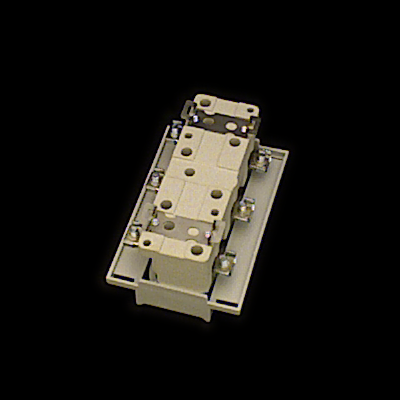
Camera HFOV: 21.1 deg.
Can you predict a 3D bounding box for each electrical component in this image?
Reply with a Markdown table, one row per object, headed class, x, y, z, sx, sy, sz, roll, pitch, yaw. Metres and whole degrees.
| class | x | y | z | sx | sy | sz | roll | pitch | yaw |
| --- | --- | --- | --- | --- | --- | --- | --- | --- | --- |
| electrical component | 0.000 | 0.000 | 0.635 | 0.078 | 0.121 | 0.063 | 13 | -36 | 9 |
